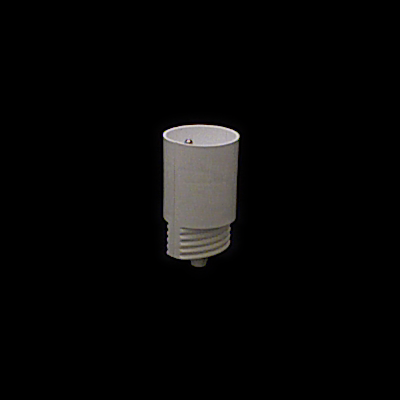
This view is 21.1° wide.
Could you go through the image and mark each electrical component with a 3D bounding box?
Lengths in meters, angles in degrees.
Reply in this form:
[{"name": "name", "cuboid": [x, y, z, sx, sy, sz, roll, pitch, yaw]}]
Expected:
[{"name": "electrical component", "cuboid": [0.000, 0.000, 0.632, 0.043, 0.082, 0.042, 0, 21, 0]}]
